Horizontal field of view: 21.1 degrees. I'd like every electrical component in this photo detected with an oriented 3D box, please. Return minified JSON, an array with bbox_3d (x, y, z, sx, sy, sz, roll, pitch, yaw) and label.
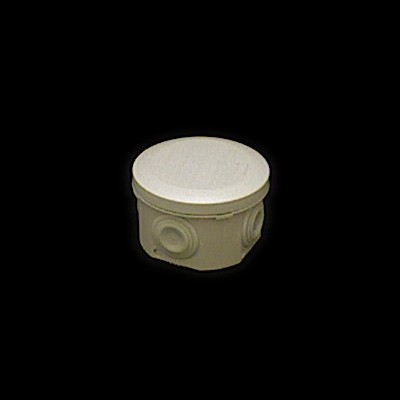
[{"bbox_3d":[0.000,0.000,0.634,0.080,0.051,0.079,1,31,0],"label":"electrical component"}]
